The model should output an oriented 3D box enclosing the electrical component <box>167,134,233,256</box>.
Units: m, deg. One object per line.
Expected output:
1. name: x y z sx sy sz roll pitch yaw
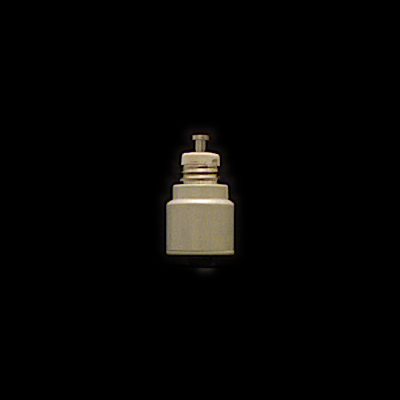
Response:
1. electrical component: 0.000 0.000 0.649 0.040 0.078 0.040 0 2 0
